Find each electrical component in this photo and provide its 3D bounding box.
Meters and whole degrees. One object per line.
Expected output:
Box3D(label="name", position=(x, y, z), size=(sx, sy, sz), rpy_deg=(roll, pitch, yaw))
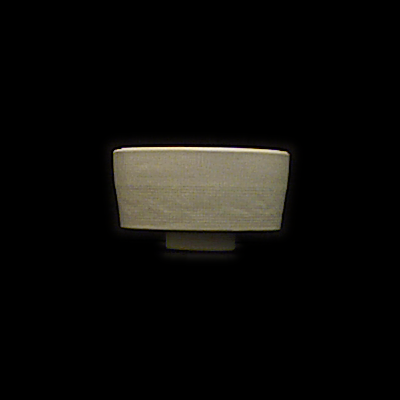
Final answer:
Box3D(label="electrical component", position=(0.000, 0.000, 0.660), size=(0.108, 0.060, 0.108), rpy_deg=(1, 1, 0))
